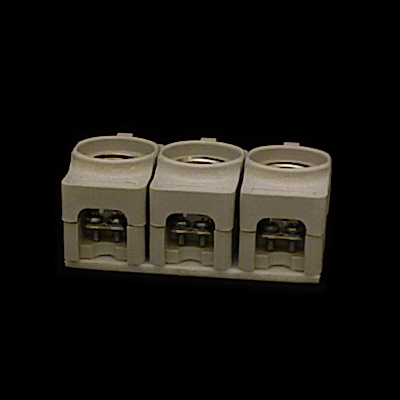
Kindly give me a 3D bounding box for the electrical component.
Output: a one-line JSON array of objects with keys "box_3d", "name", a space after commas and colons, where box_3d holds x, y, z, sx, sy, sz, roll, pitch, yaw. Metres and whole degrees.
[{"box_3d": [0.000, 0.000, 0.647, 0.150, 0.063, 0.088, 4, 20, 6], "name": "electrical component"}]
